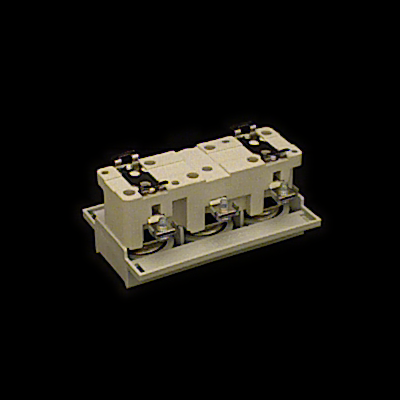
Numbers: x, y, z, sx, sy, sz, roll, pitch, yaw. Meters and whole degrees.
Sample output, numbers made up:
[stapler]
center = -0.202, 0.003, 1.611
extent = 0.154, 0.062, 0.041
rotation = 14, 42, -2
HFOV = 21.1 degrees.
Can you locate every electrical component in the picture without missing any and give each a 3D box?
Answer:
[electrical component]
center = 0.000, 0.000, 0.643
extent = 0.122, 0.064, 0.077
rotation = -16, 35, -25
